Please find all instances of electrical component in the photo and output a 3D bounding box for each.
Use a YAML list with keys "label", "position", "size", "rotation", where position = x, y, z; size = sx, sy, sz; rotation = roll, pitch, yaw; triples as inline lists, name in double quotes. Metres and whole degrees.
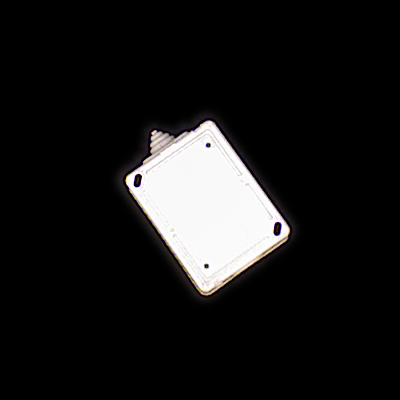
- label: "electrical component"
  position: [0.000, 0.000, 0.629]
  size: [0.062, 0.096, 0.061]
  rotation: [-35, -7, -3]
